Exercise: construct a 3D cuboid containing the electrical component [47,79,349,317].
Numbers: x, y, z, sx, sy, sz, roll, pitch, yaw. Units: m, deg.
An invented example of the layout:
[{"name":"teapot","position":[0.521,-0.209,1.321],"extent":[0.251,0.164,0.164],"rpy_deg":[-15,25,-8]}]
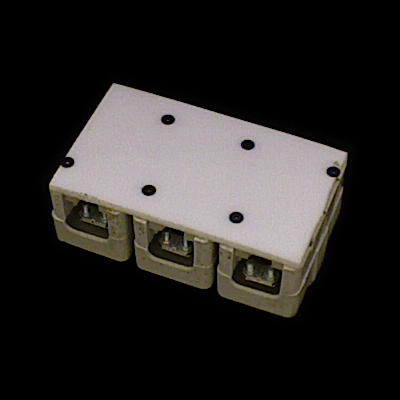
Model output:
[{"name":"electrical component","position":[0.000,0.000,0.632],"extent":[0.149,0.088,0.062],"rpy_deg":[18,-36,13]}]
